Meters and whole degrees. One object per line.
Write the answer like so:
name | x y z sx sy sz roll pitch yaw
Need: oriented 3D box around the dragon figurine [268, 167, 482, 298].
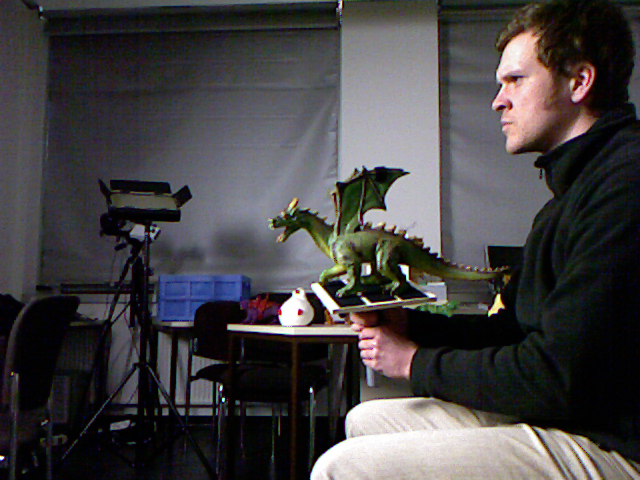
dragon figurine | 0.107 -0.022 1.015 0.411 0.241 0.123 -4 10 0
